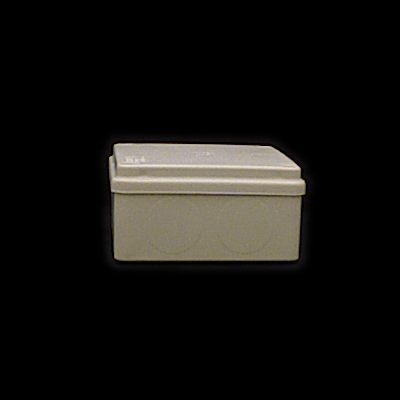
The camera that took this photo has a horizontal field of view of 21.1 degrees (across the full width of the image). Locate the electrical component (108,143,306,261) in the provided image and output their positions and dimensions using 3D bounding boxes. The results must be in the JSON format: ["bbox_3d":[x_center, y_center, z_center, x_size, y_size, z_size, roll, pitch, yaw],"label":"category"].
[{"bbox_3d":[0.000,0.000,0.646,0.109,0.056,0.108,1,10,-6],"label":"electrical component"}]
